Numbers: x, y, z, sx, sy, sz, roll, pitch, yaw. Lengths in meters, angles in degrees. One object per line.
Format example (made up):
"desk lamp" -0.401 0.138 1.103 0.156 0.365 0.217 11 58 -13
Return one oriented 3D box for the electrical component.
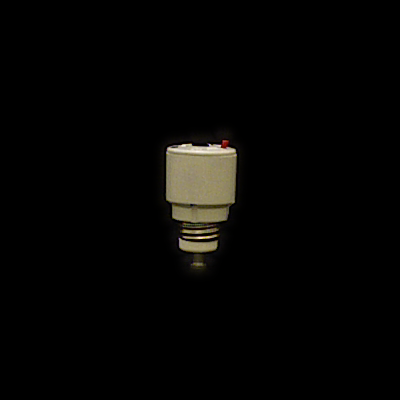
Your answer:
"electrical component" 0.000 0.000 0.641 0.040 0.079 0.040 2 11 0
